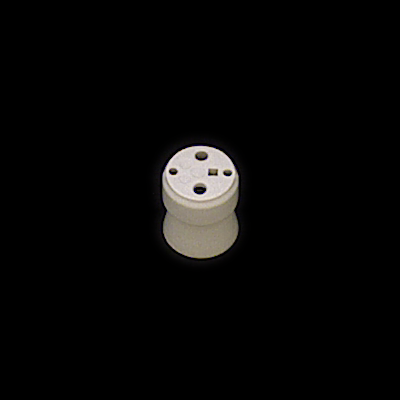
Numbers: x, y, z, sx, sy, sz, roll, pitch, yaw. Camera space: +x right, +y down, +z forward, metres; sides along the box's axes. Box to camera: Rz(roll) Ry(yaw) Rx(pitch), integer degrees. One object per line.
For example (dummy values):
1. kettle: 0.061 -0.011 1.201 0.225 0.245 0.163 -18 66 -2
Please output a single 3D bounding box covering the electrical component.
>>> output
1. electrical component: 0.000 0.000 0.629 0.045 0.044 0.055 0 -37 0
